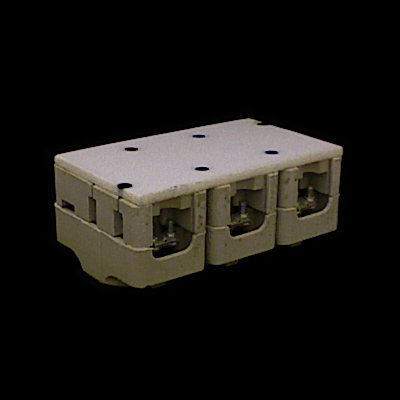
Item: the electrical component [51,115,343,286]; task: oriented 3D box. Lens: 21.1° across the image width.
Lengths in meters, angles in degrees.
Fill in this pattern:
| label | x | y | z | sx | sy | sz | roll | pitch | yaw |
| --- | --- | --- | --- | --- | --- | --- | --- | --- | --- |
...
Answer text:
| label | x | y | z | sx | sy | sz | roll | pitch | yaw |
| --- | --- | --- | --- | --- | --- | --- | --- | --- | --- |
| electrical component | 0.000 | 0.000 | 0.642 | 0.149 | 0.063 | 0.088 | -14 | 25 | -35 |
